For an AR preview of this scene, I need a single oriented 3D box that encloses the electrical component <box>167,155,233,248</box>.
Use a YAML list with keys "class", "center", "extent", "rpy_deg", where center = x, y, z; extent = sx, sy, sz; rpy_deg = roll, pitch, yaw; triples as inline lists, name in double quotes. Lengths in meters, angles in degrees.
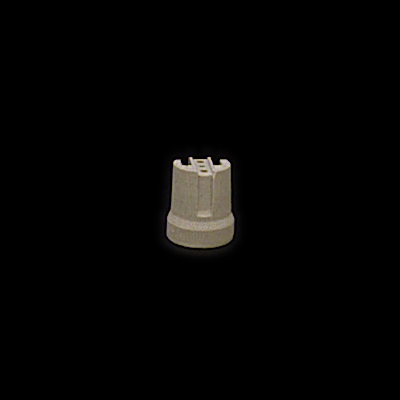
- class: "electrical component"
  center: [0.000, 0.000, 0.643]
  extent: [0.040, 0.046, 0.040]
  rpy_deg: [1, 22, 0]
